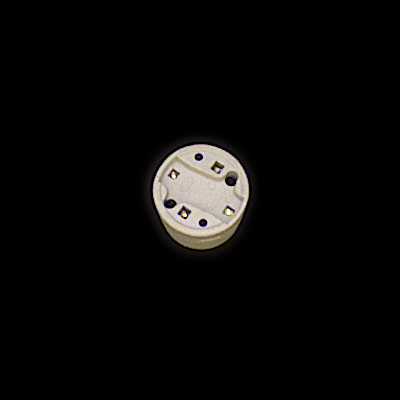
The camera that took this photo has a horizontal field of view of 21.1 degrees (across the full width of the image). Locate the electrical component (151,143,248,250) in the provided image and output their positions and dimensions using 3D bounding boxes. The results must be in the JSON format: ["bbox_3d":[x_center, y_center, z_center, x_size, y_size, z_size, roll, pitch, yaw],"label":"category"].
[{"bbox_3d":[0.000,0.000,0.635,0.055,0.056,0.047,0,-17,1],"label":"electrical component"}]
